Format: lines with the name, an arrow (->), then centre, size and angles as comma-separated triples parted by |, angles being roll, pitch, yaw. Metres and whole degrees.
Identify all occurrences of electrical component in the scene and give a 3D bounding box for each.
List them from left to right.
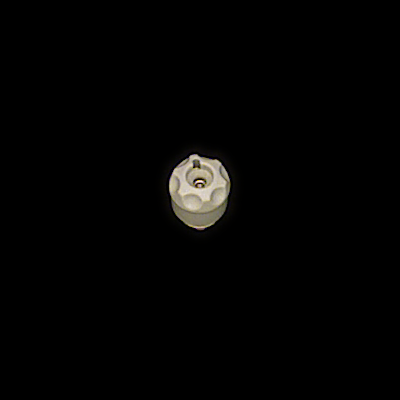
electrical component -> 0.000, 0.000, 0.635 | 0.035, 0.035, 0.061 | 0, -27, 0
